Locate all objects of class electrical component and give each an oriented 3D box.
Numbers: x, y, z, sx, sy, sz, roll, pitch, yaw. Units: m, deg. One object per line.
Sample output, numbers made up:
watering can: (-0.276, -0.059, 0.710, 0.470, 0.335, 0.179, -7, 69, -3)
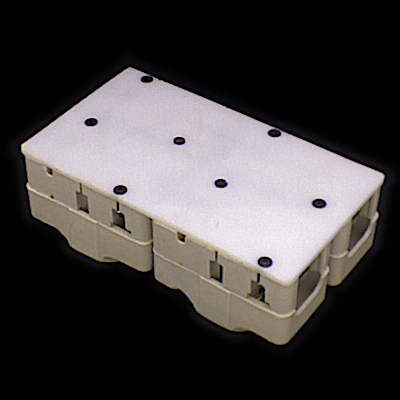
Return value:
electrical component: (0.000, 0.000, 0.630, 0.185, 0.061, 0.105, 26, 48, 25)
